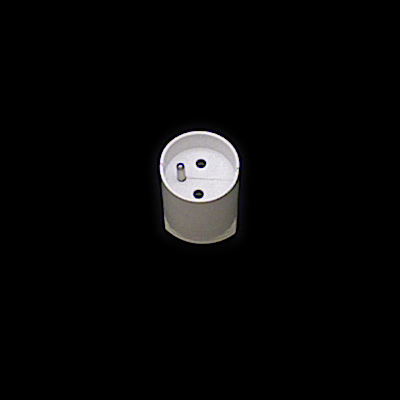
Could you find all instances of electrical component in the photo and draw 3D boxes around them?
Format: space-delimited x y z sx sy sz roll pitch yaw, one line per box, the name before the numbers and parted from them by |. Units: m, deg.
electrical component | 0.000 0.000 0.615 0.043 0.043 0.081 0 -28 1
